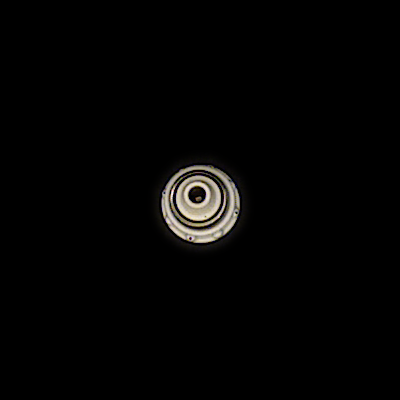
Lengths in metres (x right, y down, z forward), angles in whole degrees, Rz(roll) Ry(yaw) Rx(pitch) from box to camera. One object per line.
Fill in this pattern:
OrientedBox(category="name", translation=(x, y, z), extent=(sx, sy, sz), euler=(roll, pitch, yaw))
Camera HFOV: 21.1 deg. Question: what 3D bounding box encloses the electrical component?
OrientedBox(category="electrical component", translation=(0.000, 0.000, 0.635), extent=(0.048, 0.048, 0.062), euler=(0, -6, 1))
